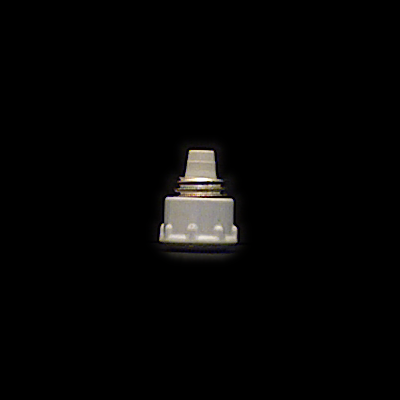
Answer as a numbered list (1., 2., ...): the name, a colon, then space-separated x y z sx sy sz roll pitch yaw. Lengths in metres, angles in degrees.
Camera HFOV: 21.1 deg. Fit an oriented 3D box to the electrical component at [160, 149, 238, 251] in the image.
1. electrical component: 0.000 0.000 0.656 0.048 0.062 0.048 2 3 0
